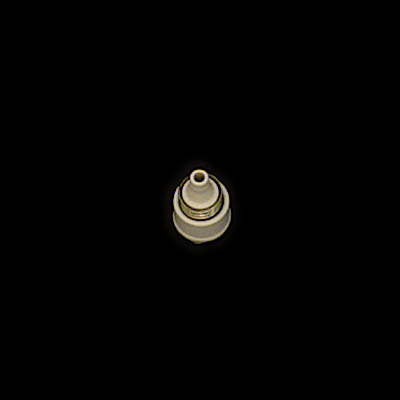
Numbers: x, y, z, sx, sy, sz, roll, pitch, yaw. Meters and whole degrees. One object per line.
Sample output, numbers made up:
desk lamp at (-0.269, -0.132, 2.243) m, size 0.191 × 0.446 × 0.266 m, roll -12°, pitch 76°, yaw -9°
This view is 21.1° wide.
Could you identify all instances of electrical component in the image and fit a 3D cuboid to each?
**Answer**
electrical component at (0.000, 0.000, 0.637) m, size 0.035 × 0.035 × 0.061 m, roll 0°, pitch -27°, yaw 2°
